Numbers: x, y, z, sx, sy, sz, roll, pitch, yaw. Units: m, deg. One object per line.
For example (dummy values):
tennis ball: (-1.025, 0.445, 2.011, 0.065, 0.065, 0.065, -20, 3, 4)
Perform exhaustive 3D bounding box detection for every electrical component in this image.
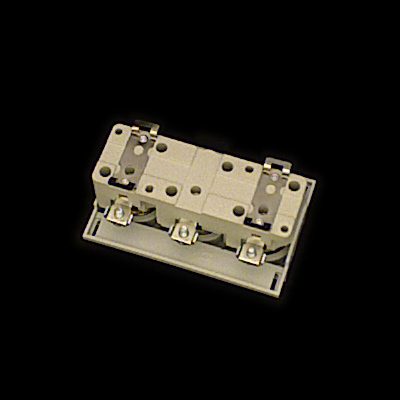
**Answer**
electrical component: (0.000, 0.000, 0.635, 0.121, 0.079, 0.063, 16, -26, 8)
